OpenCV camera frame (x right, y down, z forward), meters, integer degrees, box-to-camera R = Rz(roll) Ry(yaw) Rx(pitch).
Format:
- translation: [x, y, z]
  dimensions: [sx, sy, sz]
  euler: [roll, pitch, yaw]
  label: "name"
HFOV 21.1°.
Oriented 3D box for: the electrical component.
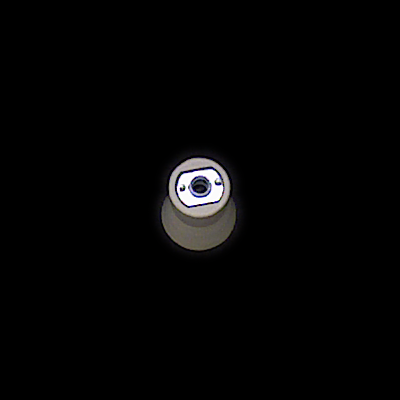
- translation: [0.000, 0.000, 0.624]
  dimensions: [0.044, 0.044, 0.065]
  euler: [0, -16, -1]
  label: "electrical component"
